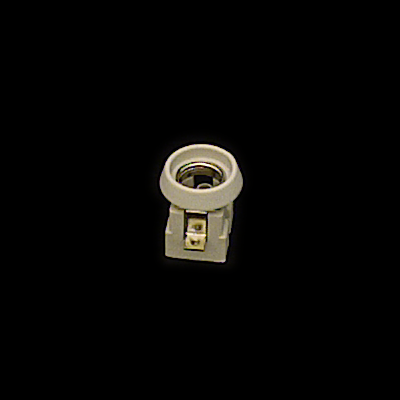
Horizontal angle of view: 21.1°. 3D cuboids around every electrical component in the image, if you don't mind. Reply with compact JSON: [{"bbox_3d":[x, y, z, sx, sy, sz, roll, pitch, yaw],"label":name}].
[{"bbox_3d":[0.000,0.000,0.639,0.048,0.056,0.066,3,43,5],"label":"electrical component"}]
